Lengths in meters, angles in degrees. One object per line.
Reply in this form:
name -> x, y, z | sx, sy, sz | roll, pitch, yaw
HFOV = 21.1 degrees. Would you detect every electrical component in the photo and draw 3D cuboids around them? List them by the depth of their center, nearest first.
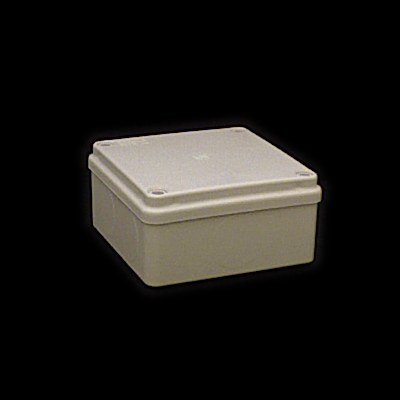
electrical component -> 0.000, 0.000, 0.639 | 0.109, 0.057, 0.107 | -8, 23, -22
